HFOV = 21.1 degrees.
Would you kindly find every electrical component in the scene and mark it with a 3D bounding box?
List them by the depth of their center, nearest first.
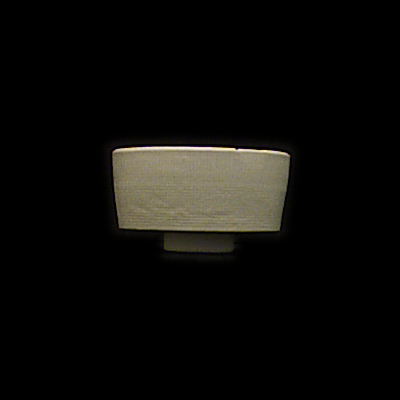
[{"bbox_3d":[0.000,0.000,0.655,0.108,0.060,0.108,1,0,0],"label":"electrical component"}]
